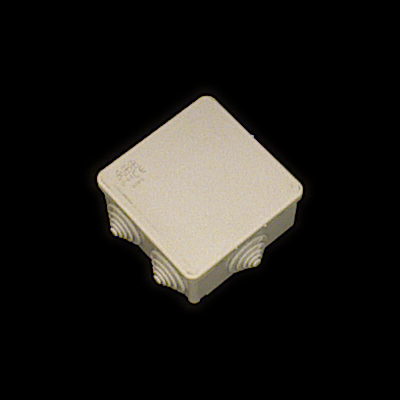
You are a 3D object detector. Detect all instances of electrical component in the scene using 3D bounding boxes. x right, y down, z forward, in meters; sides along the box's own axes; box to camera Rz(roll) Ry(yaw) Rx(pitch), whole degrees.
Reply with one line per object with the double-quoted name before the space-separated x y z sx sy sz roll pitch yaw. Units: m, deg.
"electrical component" 0.000 0.000 0.639 0.100 0.099 0.048 -38 -21 -17
